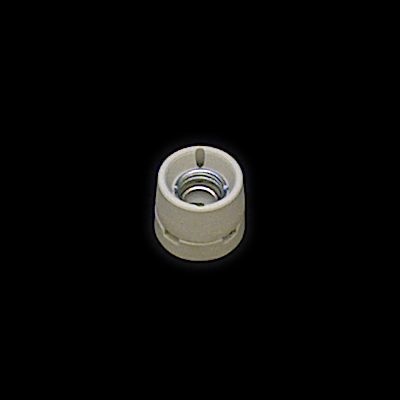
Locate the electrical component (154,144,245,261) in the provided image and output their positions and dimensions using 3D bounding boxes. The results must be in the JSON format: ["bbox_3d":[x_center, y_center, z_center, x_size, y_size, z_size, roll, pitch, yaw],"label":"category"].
[{"bbox_3d":[0.000,0.000,0.635,0.055,0.055,0.047,0,-38,-1],"label":"electrical component"}]
